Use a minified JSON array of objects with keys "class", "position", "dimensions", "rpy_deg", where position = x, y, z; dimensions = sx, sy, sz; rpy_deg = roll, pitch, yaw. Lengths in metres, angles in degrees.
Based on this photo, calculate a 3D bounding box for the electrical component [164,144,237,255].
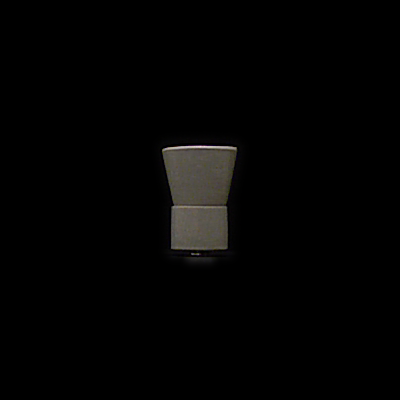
[{"class":"electrical component","position":[0.000,0.000,0.648],"dimensions":[0.044,0.065,0.044],"rpy_deg":[0,2,0]}]
